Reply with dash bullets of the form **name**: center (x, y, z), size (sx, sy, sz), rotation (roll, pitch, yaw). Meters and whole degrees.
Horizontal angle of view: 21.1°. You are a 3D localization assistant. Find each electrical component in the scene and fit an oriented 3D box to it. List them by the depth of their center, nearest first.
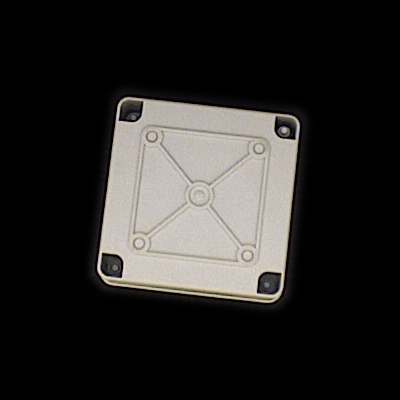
- **electrical component**: center (0.000, 0.000, 0.629), size (0.109, 0.109, 0.056), rotation (7, -7, 0)
